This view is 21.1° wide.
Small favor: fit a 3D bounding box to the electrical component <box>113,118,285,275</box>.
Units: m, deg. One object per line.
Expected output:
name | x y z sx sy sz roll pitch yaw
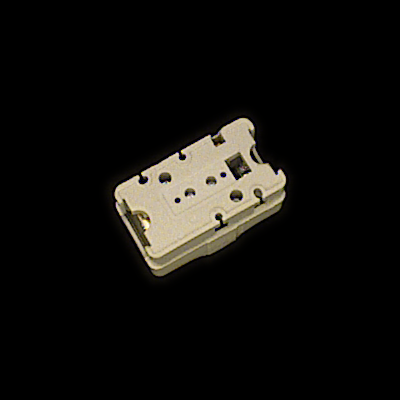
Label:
electrical component | 0.000 0.000 0.636 0.090 0.050 0.055 -29 -15 -8
